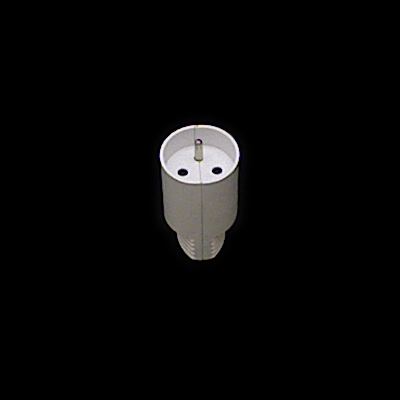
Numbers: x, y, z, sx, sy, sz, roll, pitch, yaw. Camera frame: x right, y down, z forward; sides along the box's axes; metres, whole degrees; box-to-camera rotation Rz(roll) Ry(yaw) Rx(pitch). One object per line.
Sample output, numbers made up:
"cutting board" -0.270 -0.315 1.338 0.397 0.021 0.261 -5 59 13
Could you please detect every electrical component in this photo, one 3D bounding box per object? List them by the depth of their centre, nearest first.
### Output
"electrical component" 0.000 0.000 0.620 0.043 0.043 0.081 0 -39 -1
